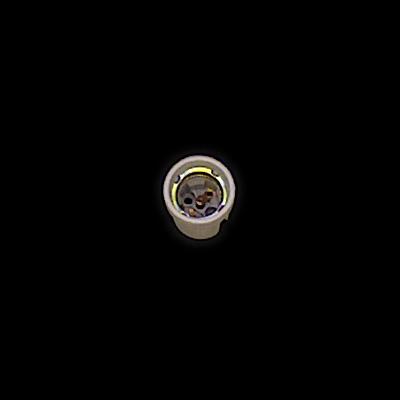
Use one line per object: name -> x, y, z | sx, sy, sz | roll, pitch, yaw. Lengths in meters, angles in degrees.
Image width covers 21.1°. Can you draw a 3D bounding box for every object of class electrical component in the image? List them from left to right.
electrical component -> 0.000, 0.000, 0.627 | 0.040, 0.040, 0.046 | 0, -17, 0
